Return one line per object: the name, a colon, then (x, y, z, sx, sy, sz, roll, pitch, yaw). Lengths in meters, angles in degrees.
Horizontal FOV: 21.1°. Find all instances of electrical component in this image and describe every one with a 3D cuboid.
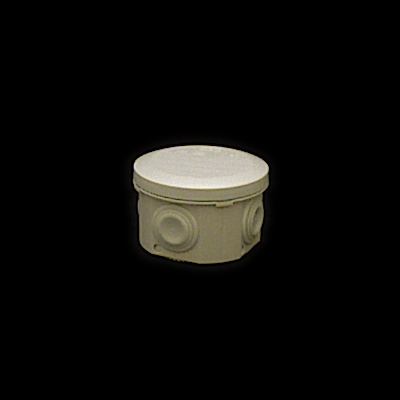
electrical component: (0.000, 0.000, 0.640, 0.080, 0.051, 0.079, 1, 21, 0)
